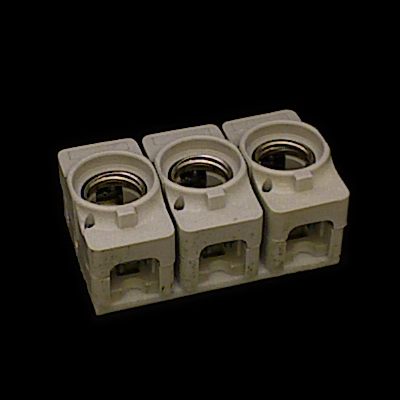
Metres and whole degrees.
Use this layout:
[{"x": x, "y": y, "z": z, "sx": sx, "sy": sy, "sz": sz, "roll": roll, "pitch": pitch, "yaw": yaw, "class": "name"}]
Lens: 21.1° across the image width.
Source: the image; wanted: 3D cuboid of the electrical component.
[{"x": 0.000, "y": 0.000, "z": 0.636, "sx": 0.150, "sy": 0.063, "sz": 0.088, "roll": -12, "pitch": 44, "yaw": -13, "class": "electrical component"}]
